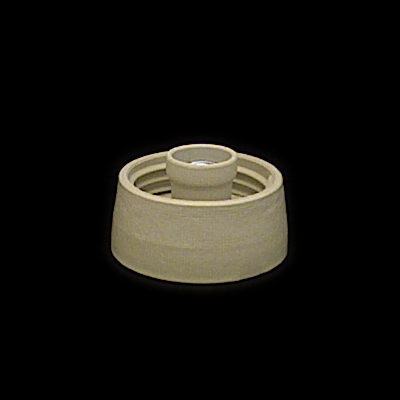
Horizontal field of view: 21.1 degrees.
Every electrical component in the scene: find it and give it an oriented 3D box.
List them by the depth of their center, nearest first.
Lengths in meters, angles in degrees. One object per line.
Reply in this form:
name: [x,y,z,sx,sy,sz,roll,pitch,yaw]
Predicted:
electrical component: [0.000,0.000,0.645,0.108,0.061,0.106,1,21,0]
